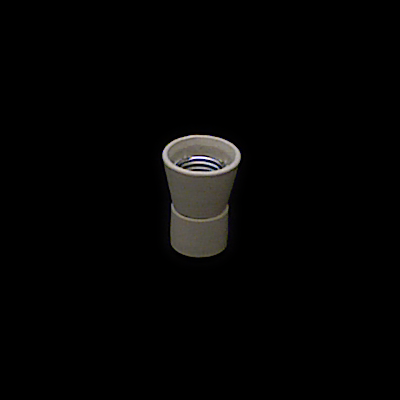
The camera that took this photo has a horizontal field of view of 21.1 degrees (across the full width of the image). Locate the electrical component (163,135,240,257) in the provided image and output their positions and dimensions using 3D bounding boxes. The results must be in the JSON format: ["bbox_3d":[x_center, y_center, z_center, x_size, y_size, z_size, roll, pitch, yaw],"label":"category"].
[{"bbox_3d":[0.000,0.000,0.632,0.044,0.066,0.044,1,32,-1],"label":"electrical component"}]
